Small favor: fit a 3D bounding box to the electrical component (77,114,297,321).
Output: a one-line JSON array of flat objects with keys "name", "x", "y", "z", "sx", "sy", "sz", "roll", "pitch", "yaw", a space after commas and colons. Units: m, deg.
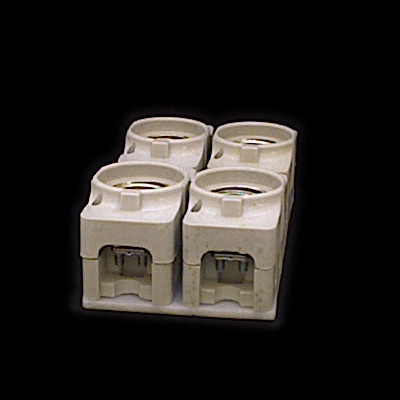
[{"name": "electrical component", "x": 0.000, "y": 0.000, "z": 0.638, "sx": 0.105, "sy": 0.061, "sz": 0.184, "roll": 4, "pitch": 21, "yaw": 7}]
